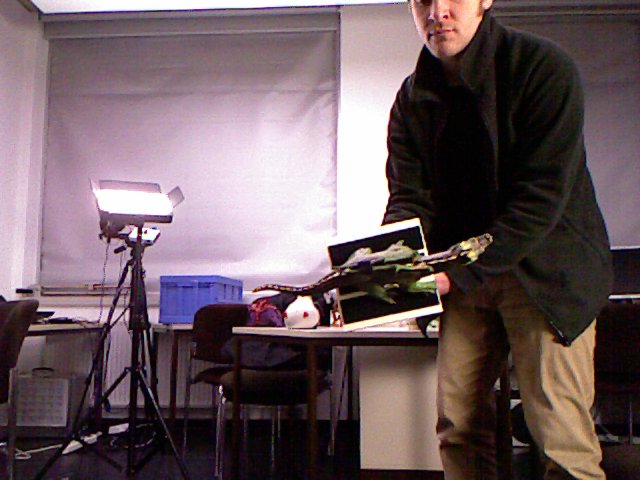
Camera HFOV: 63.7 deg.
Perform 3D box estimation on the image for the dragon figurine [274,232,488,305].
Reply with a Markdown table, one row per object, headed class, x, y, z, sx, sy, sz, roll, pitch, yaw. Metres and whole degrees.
| class | x | y | z | sx | sy | sz | roll | pitch | yaw |
| --- | --- | --- | --- | --- | --- | --- | --- | --- | --- |
| dragon figurine | 0.102 | 0.054 | 0.944 | 0.411 | 0.124 | 0.241 | -13 | -13 | 1 |
